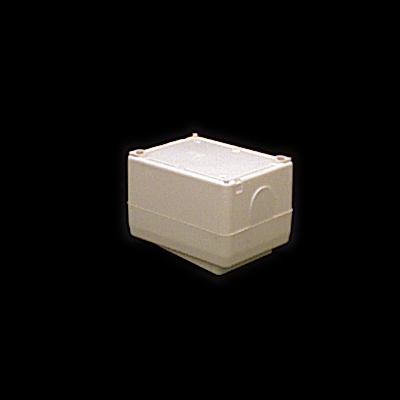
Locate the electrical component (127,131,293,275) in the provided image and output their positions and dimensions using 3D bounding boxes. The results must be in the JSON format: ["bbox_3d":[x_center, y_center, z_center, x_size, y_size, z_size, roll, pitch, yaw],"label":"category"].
[{"bbox_3d":[0.000,0.000,0.642,0.095,0.061,0.061,18,26,39],"label":"electrical component"}]
